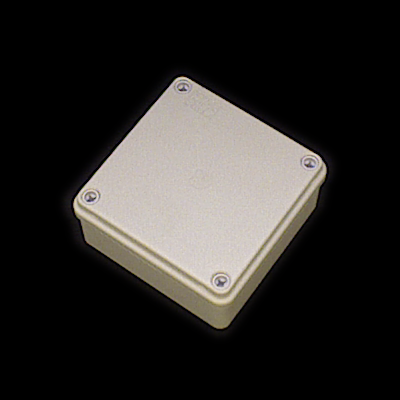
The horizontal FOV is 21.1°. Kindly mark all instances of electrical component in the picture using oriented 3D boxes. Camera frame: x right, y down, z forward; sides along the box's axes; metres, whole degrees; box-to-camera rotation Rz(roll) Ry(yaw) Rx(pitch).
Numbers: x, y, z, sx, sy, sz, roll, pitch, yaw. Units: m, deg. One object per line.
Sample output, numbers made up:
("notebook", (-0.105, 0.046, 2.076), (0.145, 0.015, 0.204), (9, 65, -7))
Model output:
("electrical component", (0.000, 0.000, 0.628), (0.108, 0.109, 0.056), (32, -23, 15))
